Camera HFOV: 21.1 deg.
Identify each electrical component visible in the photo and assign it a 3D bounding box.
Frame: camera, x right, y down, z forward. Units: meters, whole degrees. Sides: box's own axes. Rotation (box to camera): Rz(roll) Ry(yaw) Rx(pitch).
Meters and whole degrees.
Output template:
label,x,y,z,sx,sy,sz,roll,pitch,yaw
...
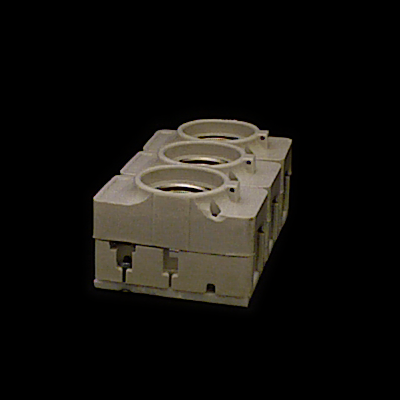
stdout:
label,x,y,z,sx,sy,sz,roll,pitch,yaw
electrical component,0.000,0.000,0.645,0.089,0.063,0.147,6,21,11
